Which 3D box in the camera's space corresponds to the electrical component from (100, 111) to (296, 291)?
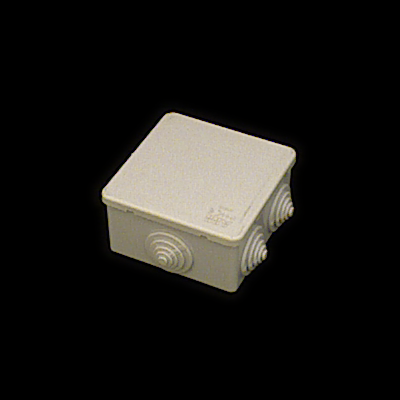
[{"bbox_3d":[0.000,0.000,0.641,0.099,0.049,0.099,18,46,18],"label":"electrical component"}]
